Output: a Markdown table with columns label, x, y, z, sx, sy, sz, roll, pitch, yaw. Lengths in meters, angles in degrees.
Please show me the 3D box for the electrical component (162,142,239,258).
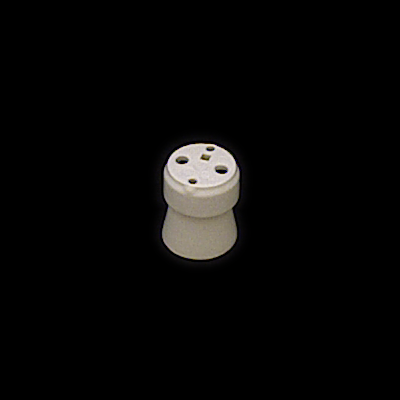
| label | x | y | z | sx | sy | sz | roll | pitch | yaw |
| --- | --- | --- | --- | --- | --- | --- | --- | --- | --- |
| electrical component | 0.000 | 0.000 | 0.632 | 0.045 | 0.055 | 0.044 | 1 | 43 | 0 |
